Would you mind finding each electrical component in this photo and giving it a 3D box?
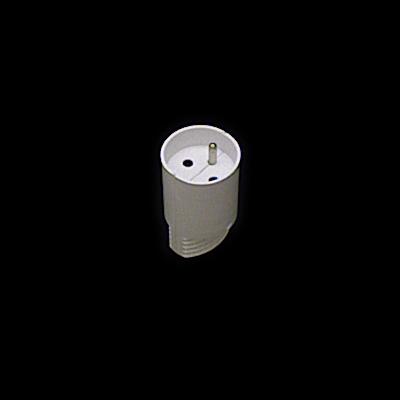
[{"bbox_3d":[0.000,0.000,0.620,0.043,0.043,0.081,0,-38,-2],"label":"electrical component"}]
